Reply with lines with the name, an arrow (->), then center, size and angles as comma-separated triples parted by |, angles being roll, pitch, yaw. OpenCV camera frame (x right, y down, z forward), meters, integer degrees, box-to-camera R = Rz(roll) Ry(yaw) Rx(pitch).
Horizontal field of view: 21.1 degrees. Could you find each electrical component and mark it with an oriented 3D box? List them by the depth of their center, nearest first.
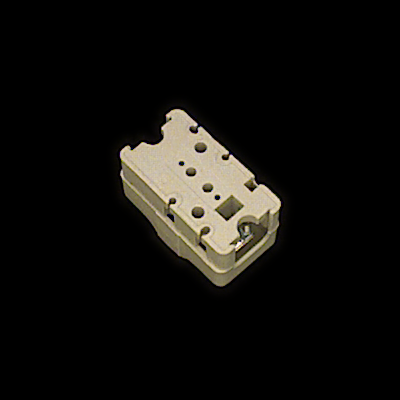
electrical component -> 0.000, 0.000, 0.636 | 0.050, 0.089, 0.055 | -40, -19, -18
